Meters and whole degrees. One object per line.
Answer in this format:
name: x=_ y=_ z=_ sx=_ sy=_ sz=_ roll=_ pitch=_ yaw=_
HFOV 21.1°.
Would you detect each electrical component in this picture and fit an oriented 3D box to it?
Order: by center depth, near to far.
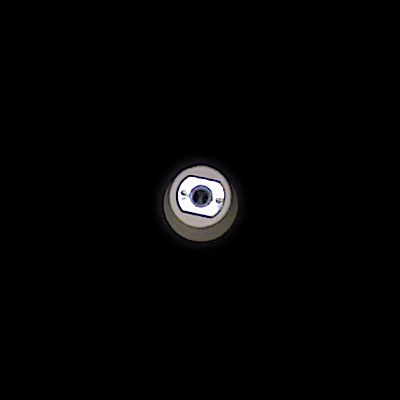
electrical component: x=0.000 y=0.000 z=0.626 sx=0.044 sy=0.044 sz=0.065 roll=0 pitch=-5 yaw=0
